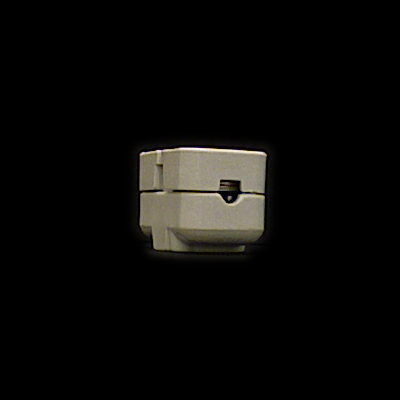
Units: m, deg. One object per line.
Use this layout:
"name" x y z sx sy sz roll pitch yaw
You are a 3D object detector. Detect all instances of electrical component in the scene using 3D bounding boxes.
"electrical component" 0.000 0.000 0.654 0.054 0.059 0.094 1 1 -23
